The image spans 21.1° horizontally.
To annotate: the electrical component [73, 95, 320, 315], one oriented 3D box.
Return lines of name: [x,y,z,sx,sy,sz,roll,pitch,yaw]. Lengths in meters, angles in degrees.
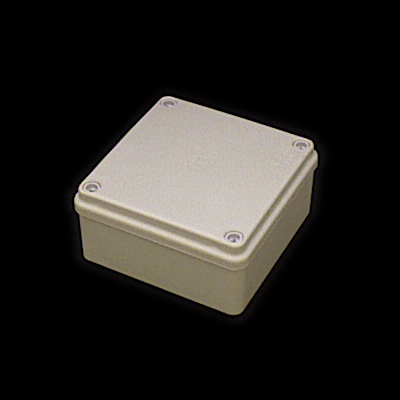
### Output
electrical component: [0.000,0.000,0.632,0.108,0.056,0.108,19,45,20]
